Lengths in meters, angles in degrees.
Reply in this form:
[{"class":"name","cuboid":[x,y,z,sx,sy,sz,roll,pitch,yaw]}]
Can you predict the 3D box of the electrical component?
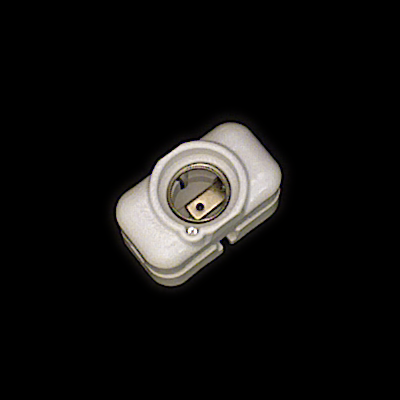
[{"class":"electrical component","cuboid":[0.000,0.000,0.633,0.095,0.053,0.059,-37,-13,-10]}]
